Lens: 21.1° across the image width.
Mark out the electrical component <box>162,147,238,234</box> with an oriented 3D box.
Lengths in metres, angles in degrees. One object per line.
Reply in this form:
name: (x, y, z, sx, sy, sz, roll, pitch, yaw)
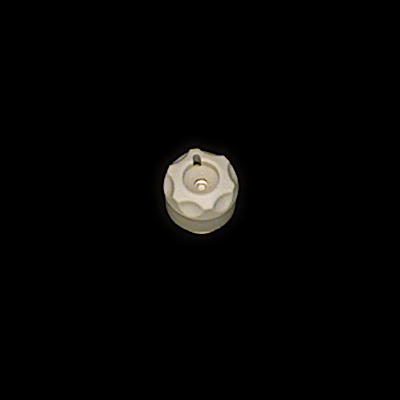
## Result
electrical component: (0.000, 0.000, 0.634, 0.043, 0.043, 0.062, 0, -26, 0)
